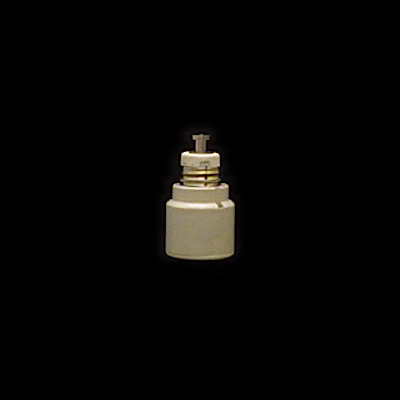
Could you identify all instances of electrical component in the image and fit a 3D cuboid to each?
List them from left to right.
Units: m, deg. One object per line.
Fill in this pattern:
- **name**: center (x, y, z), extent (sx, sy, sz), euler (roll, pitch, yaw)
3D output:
- **electrical component**: center (0.000, 0.000, 0.641), extent (0.040, 0.079, 0.040), euler (0, 11, 0)
